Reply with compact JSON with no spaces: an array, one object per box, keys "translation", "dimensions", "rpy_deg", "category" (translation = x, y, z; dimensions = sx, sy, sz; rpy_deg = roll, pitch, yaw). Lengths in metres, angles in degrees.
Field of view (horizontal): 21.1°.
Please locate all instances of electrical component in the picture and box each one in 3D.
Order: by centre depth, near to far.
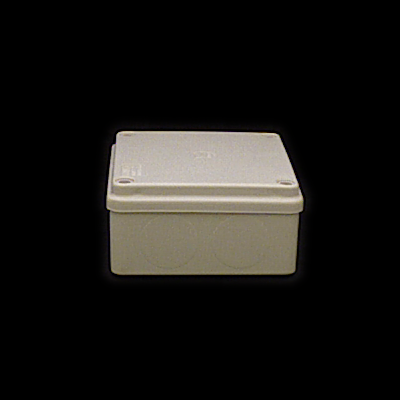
[{"translation":[0.000,0.000,0.641],"dimensions":[0.109,0.057,0.107],"rpy_deg":[1,21,-3],"category":"electrical component"}]
